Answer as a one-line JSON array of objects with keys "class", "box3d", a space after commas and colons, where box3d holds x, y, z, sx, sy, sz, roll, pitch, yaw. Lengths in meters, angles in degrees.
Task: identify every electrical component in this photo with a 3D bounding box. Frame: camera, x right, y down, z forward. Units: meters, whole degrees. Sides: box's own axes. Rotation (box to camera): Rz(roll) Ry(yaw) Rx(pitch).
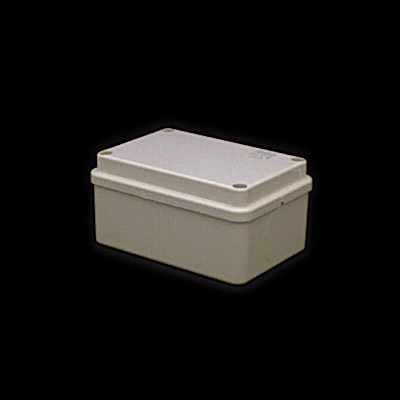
[{"class": "electrical component", "box3d": [0.000, 0.000, 0.641, 0.112, 0.058, 0.078, 15, 25, 33]}]
